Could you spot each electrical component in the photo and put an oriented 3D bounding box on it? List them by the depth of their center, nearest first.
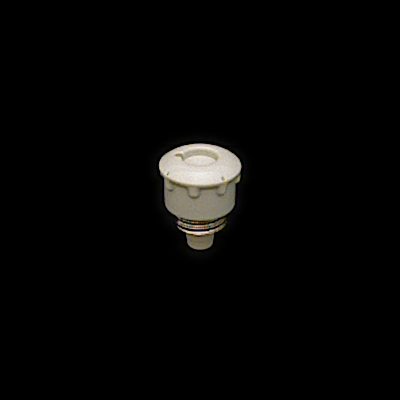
[{"bbox_3d":[0.000,0.000,0.639,0.048,0.063,0.047,1,32,0],"label":"electrical component"}]
